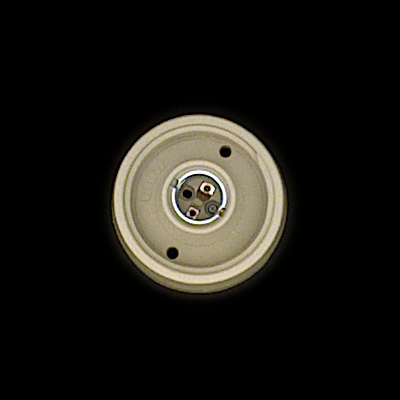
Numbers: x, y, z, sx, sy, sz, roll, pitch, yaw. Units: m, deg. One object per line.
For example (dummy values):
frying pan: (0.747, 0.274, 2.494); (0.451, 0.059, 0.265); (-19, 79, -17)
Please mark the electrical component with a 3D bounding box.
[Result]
electrical component: (0.000, 0.000, 0.635); (0.108, 0.108, 0.060); (0, -6, 0)
